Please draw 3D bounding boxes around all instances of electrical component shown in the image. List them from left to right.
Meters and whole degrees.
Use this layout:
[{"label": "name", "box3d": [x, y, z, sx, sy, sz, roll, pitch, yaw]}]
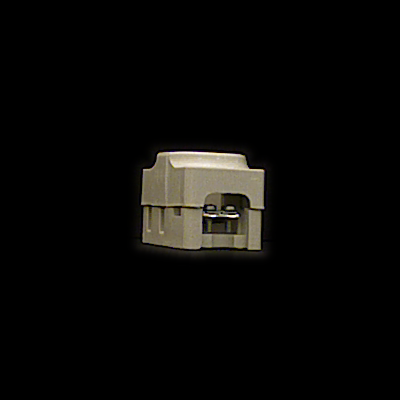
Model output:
[{"label": "electrical component", "box3d": [0.000, 0.000, 0.657, 0.050, 0.056, 0.089, 1, 1, -21]}]
